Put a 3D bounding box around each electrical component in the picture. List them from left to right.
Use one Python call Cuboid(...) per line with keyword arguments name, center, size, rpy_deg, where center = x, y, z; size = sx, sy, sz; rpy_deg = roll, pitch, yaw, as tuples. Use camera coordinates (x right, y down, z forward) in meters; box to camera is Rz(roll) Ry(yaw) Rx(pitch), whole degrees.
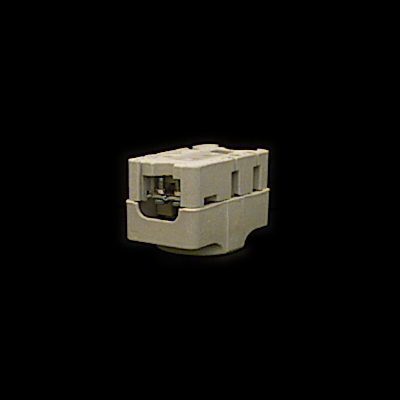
Cuboid(name="electrical component", center=(0.000, 0.000, 0.652), size=(0.049, 0.056, 0.090), rpy_deg=(8, 12, 31))
